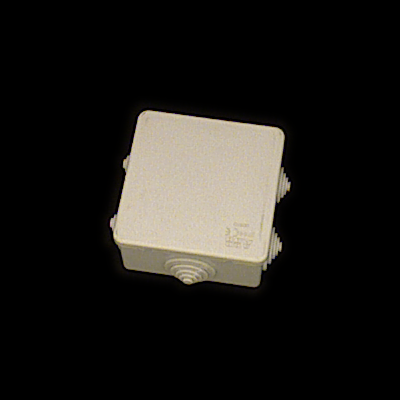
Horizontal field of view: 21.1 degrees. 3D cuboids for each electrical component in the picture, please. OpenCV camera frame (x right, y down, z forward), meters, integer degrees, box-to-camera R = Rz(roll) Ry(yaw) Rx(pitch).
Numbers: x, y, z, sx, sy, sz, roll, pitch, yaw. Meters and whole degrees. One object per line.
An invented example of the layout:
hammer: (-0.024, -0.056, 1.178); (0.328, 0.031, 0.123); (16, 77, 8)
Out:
electrical component: (0.000, 0.000, 0.639); (0.099, 0.100, 0.048); (8, -26, 4)
